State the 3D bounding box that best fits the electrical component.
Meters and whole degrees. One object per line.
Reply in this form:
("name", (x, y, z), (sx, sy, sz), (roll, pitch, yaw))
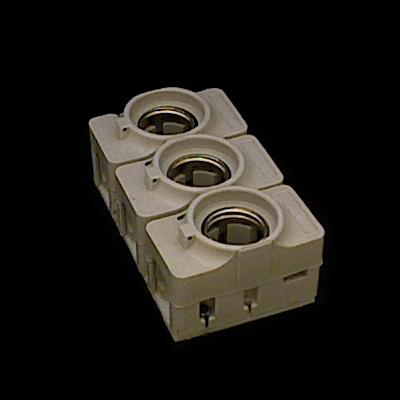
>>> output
("electrical component", (0.000, 0.000, 0.635), (0.089, 0.063, 0.147), (-16, 44, -17))
